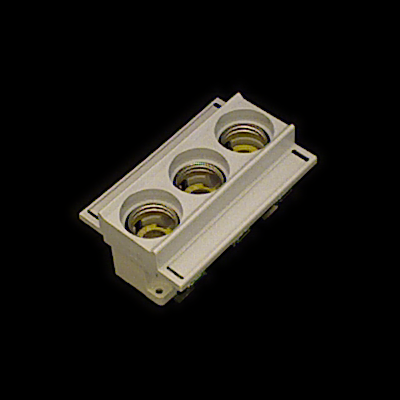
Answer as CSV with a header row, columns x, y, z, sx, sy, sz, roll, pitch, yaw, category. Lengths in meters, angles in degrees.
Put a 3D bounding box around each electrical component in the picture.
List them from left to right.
x,y,z,sx,sy,sz,roll,pitch,yaw,category
0.000,0.000,0.639,0.078,0.063,0.121,34,60,25,electrical component
